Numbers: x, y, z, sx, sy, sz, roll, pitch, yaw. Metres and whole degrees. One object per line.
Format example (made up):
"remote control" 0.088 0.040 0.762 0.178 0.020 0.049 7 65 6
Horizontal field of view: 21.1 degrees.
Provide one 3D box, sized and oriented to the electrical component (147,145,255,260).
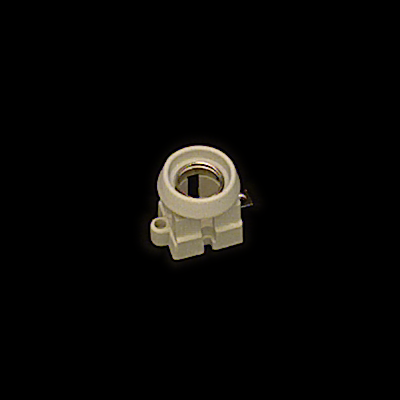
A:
"electrical component" 0.000 0.000 0.639 0.067 0.048 0.056 -15 -34 -12
